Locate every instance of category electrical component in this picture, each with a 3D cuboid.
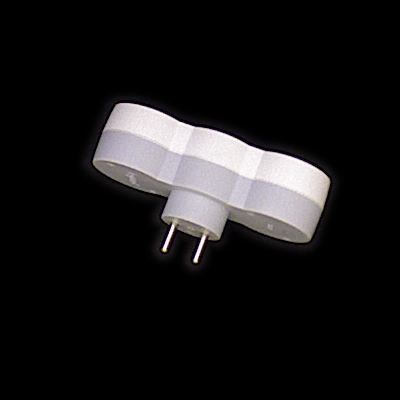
[{"bbox_3d":[0.000,0.000,0.630,0.138,0.074,0.052,19,-14,5],"label":"electrical component"}]
